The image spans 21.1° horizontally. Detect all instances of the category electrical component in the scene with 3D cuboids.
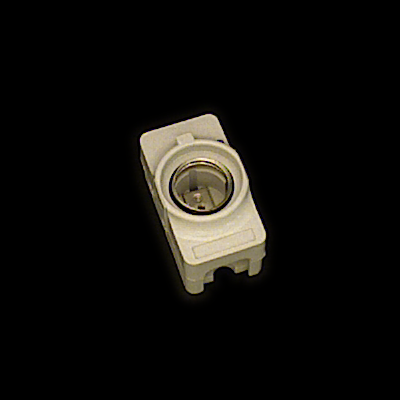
[{"bbox_3d":[0.000,0.000,0.636,0.050,0.089,0.055,-18,-25,-9],"label":"electrical component"}]
